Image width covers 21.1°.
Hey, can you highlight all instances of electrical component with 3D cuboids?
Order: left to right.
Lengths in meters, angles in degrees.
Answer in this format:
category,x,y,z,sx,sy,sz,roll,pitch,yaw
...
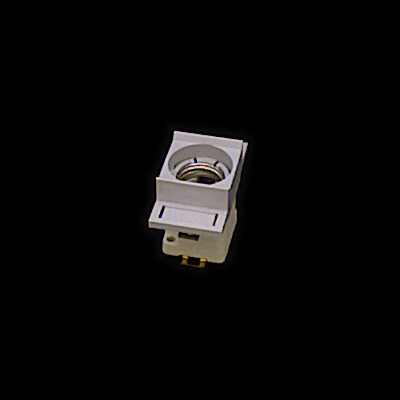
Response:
category,x,y,z,sx,sy,sz,roll,pitch,yaw
electrical component,0.000,0.000,0.631,0.042,0.064,0.080,8,43,10
